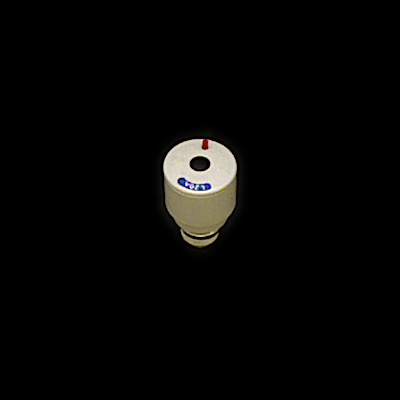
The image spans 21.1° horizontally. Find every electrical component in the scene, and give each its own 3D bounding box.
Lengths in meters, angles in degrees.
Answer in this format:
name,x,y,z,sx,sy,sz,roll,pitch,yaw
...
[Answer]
name,x,y,z,sx,sy,sz,roll,pitch,yaw
electrical component,0.000,0.000,0.622,0.040,0.040,0.079,0,-39,0
